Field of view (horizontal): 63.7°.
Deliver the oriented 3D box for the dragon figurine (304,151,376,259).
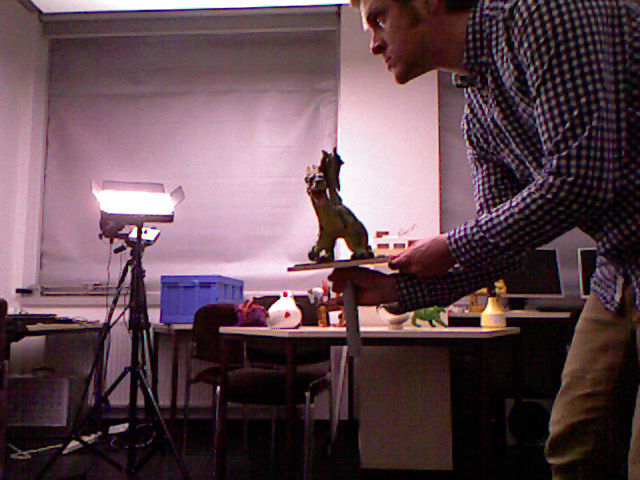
[{"bbox_3d":[0.047,-0.079,1.141,0.122,0.243,0.412,-6,1,16],"label":"dragon figurine"}]
